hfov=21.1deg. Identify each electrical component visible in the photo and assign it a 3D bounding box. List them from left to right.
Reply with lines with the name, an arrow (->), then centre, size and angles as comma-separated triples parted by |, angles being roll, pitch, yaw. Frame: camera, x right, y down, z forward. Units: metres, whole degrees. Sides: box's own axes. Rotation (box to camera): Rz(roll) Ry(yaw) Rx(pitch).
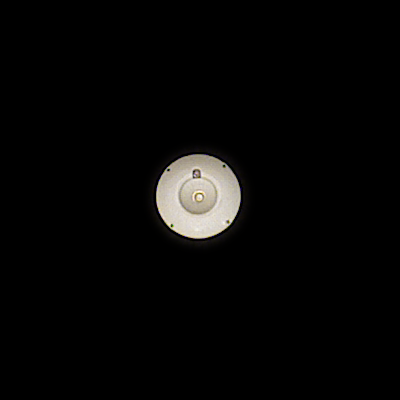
electrical component -> 0.000, 0.000, 0.634 | 0.048, 0.048, 0.062 | 0, -6, 0
